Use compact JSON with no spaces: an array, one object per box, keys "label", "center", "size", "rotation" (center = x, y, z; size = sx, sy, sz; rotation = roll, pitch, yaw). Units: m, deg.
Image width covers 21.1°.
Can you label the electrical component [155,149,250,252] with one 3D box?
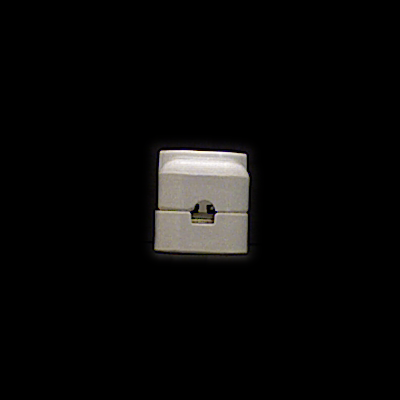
[{"label":"electrical component","center":[0.000,0.000,0.656],"size":[0.054,0.059,0.095],"rotation":[2,0,-3]}]
